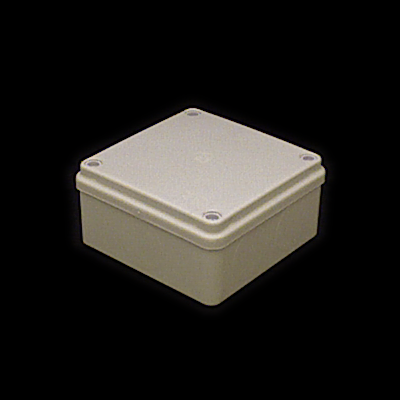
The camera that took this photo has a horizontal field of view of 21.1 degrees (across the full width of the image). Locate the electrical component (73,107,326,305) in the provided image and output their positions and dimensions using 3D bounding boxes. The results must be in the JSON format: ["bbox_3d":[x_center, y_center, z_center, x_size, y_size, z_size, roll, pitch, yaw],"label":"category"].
[{"bbox_3d":[0.000,0.000,0.637,0.108,0.057,0.108,24,38,33],"label":"electrical component"}]
